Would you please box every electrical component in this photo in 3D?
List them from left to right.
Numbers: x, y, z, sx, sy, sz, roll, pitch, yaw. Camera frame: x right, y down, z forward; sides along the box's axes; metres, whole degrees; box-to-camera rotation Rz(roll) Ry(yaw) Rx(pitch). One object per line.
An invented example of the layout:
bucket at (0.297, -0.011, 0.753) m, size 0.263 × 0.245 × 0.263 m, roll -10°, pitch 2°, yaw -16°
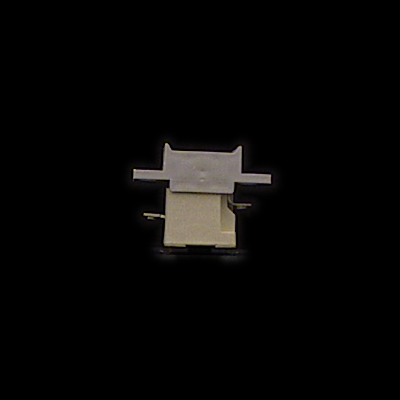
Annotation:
electrical component at (0.000, 0.000, 0.649) m, size 0.081 × 0.064 × 0.042 m, roll 2°, pitch 2°, yaw -3°
